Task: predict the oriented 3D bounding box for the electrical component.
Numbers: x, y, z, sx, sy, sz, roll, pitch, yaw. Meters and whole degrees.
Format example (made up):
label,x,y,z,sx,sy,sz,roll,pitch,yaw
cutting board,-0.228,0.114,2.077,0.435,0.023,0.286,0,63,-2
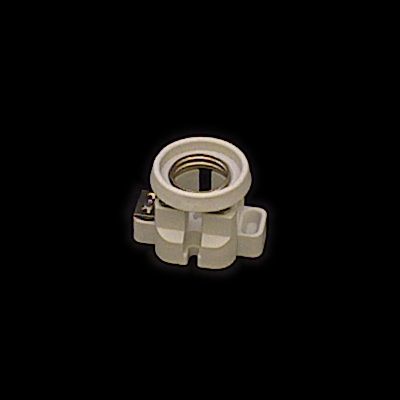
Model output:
label,x,y,z,sx,sy,sz,roll,pitch,yaw
electrical component,0.000,0.000,0.631,0.078,0.057,0.057,7,43,7
